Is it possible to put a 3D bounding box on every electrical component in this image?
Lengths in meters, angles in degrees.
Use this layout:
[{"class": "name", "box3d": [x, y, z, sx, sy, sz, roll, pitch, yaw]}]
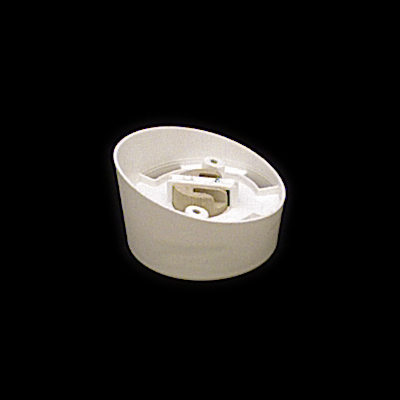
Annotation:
[{"class": "electrical component", "box3d": [0.000, 0.000, 0.632, 0.099, 0.065, 0.097, 0, 31, 0]}]
